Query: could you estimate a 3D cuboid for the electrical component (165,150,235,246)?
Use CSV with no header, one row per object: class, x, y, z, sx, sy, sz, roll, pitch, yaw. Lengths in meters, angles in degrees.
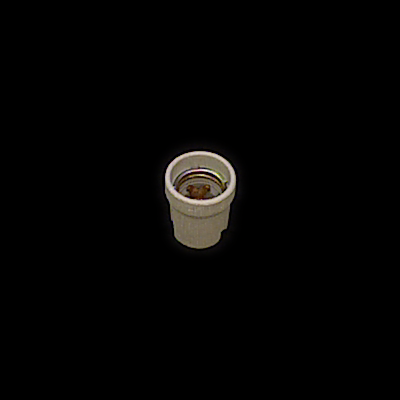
electrical component,0.000,0.000,0.631,0.040,0.040,0.047,0,-38,-1
